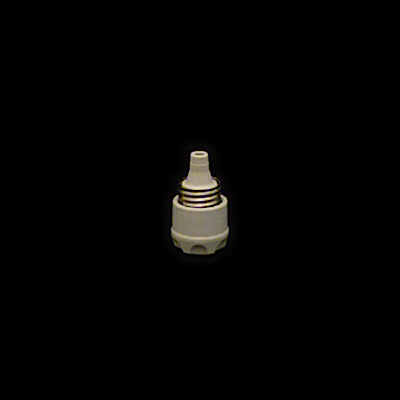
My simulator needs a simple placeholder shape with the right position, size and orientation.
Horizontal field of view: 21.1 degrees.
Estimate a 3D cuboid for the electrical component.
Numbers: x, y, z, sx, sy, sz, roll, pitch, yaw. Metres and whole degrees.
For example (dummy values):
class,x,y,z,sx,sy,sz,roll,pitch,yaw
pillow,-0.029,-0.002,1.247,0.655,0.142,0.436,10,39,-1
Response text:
class,x,y,z,sx,sy,sz,roll,pitch,yaw
electrical component,0.000,0.000,0.650,0.035,0.062,0.034,0,21,0
